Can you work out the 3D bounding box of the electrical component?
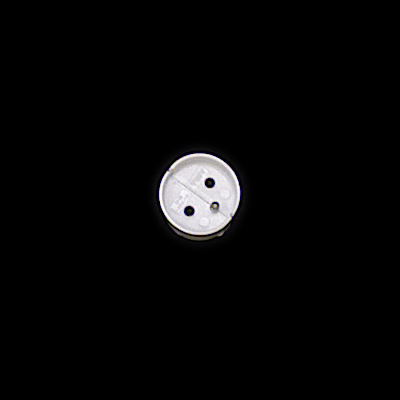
[{"bbox_3d":[0.000,0.000,0.616,0.043,0.043,0.080,0,-5,0],"label":"electrical component"}]
